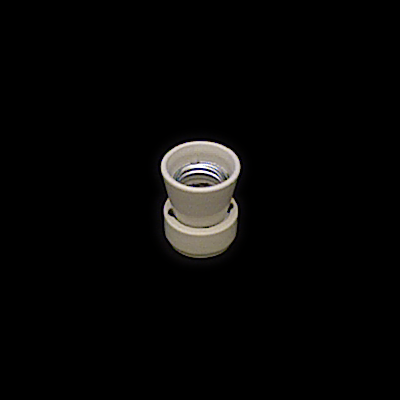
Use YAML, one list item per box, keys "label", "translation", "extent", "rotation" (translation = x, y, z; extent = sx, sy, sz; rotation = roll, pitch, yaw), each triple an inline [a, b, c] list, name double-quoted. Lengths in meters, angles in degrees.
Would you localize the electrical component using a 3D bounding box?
- label: "electrical component"
  translation: [0.000, 0.000, 0.632]
  extent: [0.045, 0.055, 0.044]
  rotation: [1, 41, 0]
